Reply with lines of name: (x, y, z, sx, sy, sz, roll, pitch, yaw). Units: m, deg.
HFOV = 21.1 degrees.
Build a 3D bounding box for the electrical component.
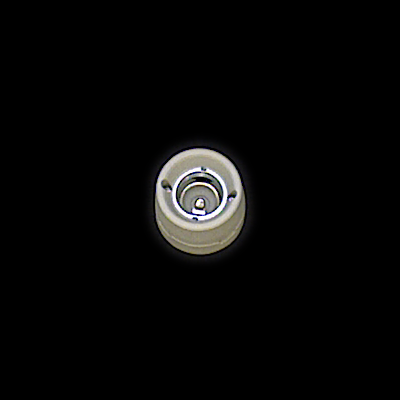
electrical component: (0.000, 0.000, 0.633, 0.055, 0.056, 0.047, 0, -17, 1)
